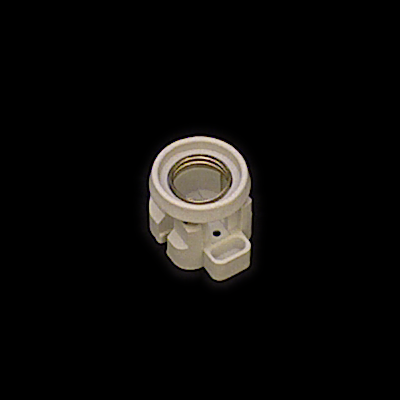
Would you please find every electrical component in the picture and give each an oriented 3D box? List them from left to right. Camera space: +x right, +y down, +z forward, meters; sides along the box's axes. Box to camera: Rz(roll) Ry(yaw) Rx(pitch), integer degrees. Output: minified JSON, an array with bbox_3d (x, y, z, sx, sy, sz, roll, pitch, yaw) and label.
[{"bbox_3d":[0.000,0.000,0.630,0.058,0.078,0.057,-26,-33,-19],"label":"electrical component"}]
